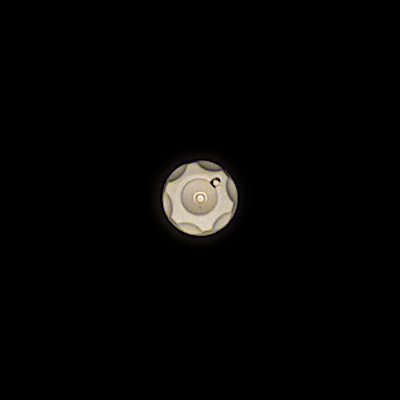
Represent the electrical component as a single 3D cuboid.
[{"bbox_3d":[0.000,0.000,0.635,0.043,0.043,0.062,0,-4,1],"label":"electrical component"}]
